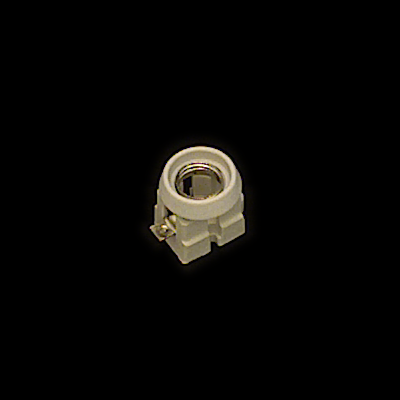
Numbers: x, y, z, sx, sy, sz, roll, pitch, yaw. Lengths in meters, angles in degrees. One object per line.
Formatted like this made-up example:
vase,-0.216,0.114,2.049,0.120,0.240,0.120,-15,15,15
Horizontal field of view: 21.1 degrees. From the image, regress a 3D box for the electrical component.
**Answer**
electrical component,0.000,0.000,0.637,0.067,0.048,0.055,-28,-34,-20
